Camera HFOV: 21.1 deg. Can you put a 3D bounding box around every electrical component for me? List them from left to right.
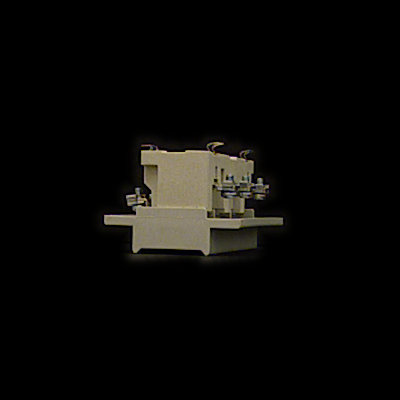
[{"bbox_3d":[0.000,0.000,0.657,0.078,0.063,0.122,1,0,15],"label":"electrical component"}]
